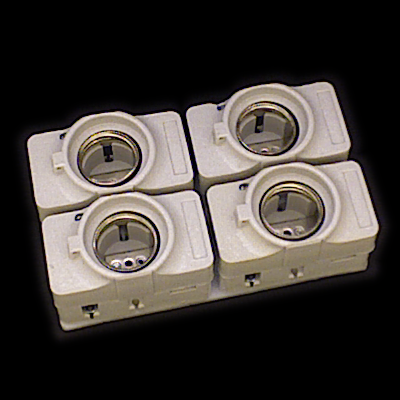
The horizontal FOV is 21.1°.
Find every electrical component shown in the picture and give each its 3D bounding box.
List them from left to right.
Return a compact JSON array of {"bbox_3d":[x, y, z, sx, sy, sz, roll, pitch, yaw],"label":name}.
[{"bbox_3d":[0.000,0.000,0.625,0.186,0.105,0.060,-11,-27,-6],"label":"electrical component"}]
